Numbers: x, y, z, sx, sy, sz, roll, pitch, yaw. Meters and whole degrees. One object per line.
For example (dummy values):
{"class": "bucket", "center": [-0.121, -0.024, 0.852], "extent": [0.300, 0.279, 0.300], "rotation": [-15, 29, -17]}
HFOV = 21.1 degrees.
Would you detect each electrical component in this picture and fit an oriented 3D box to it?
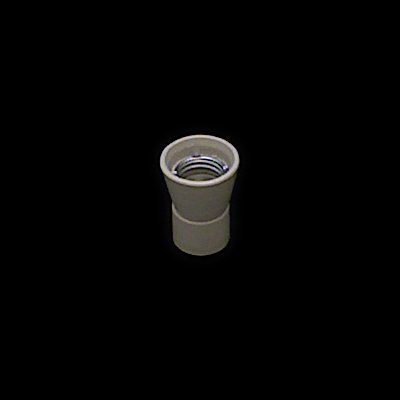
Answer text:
{"class": "electrical component", "center": [0.000, 0.000, 0.628], "extent": [0.044, 0.066, 0.044], "rotation": [0, 43, 1]}
